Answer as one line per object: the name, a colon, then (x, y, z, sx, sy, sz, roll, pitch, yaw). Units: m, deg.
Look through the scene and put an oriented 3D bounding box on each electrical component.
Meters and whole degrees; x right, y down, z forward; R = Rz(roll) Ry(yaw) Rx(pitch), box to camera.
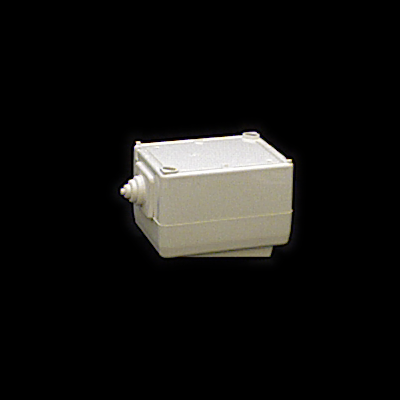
electrical component: (0.000, 0.000, 0.634, 0.096, 0.061, 0.061, -6, 22, -18)
